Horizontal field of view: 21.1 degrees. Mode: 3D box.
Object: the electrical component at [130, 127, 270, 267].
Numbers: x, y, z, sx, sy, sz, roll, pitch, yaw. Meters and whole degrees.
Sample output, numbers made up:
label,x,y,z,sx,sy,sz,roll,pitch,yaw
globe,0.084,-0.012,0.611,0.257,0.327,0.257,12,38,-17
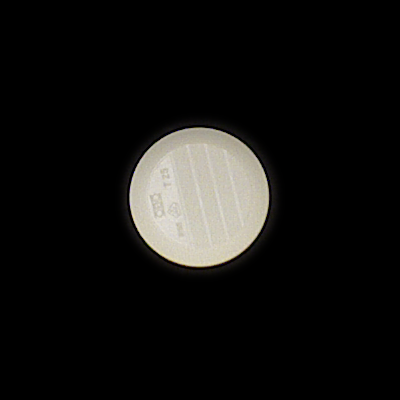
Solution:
label,x,y,z,sx,sy,sz,roll,pitch,yaw
electrical component,0.000,0.000,0.631,0.080,0.080,0.050,0,-7,0
